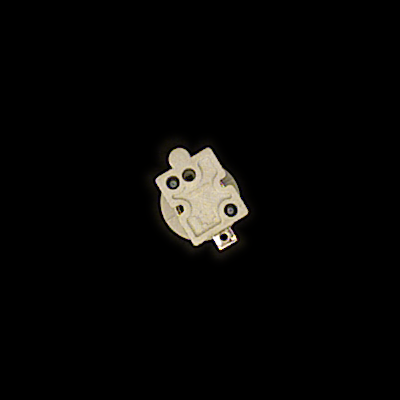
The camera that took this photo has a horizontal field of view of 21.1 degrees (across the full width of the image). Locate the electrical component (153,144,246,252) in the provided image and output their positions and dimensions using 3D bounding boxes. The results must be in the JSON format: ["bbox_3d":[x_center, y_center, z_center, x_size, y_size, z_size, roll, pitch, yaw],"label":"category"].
[{"bbox_3d":[0.000,0.000,0.639,0.048,0.066,0.055,-31,-4,-3],"label":"electrical component"}]
